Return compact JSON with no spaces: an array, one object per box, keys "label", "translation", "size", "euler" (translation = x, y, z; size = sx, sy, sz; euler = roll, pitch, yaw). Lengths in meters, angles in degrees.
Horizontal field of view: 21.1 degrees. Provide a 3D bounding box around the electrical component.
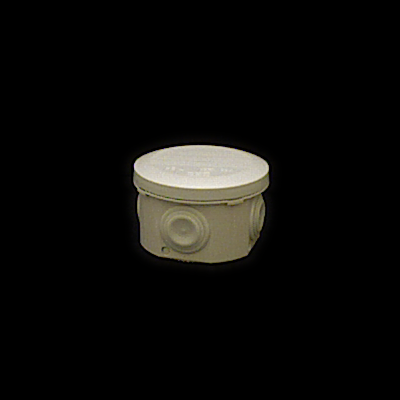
[{"label":"electrical component","translation":[0.000,0.000,0.640],"size":[0.080,0.051,0.079],"euler":[1,21,0]}]
